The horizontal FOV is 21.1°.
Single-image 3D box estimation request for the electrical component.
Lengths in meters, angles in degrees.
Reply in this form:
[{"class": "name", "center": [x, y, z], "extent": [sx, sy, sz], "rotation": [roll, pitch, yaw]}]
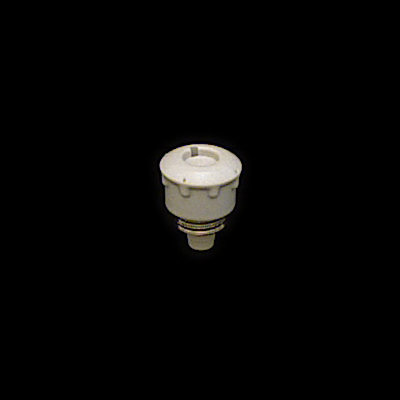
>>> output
[{"class": "electrical component", "center": [0.000, 0.000, 0.640], "extent": [0.048, 0.063, 0.047], "rotation": [1, 32, 0]}]
